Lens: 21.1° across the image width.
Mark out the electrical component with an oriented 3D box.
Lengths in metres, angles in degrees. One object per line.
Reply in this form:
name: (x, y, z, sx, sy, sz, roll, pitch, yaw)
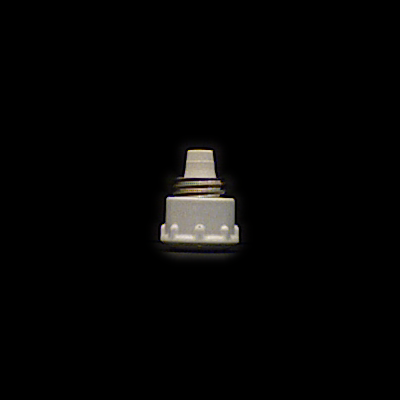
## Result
electrical component: (0.000, 0.000, 0.656, 0.048, 0.062, 0.048, 1, 1, 1)
